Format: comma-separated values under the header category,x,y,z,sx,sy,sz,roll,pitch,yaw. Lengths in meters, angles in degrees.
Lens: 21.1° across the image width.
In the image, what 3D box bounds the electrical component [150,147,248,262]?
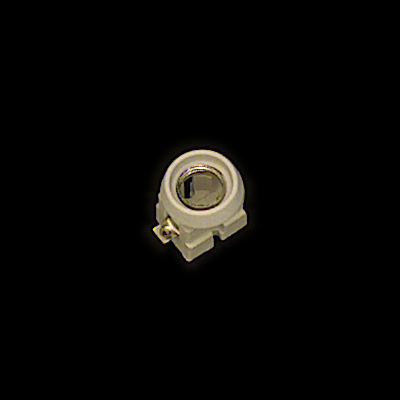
category,x,y,z,sx,sy,sz,roll,pitch,yaw
electrical component,0.000,0.000,0.636,0.067,0.048,0.055,-34,-24,-15
